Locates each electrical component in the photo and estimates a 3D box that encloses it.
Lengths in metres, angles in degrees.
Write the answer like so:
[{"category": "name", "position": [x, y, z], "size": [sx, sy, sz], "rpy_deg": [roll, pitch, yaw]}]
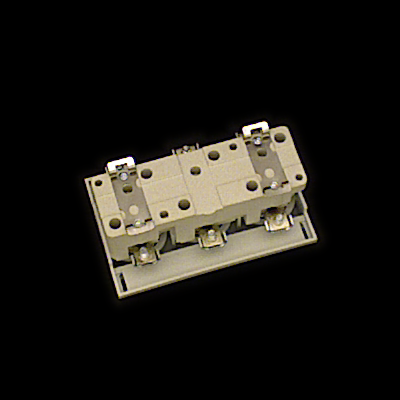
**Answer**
[{"category": "electrical component", "position": [0.000, 0.000, 0.632], "size": [0.122, 0.078, 0.063], "rpy_deg": [-16, -25, -8]}]
